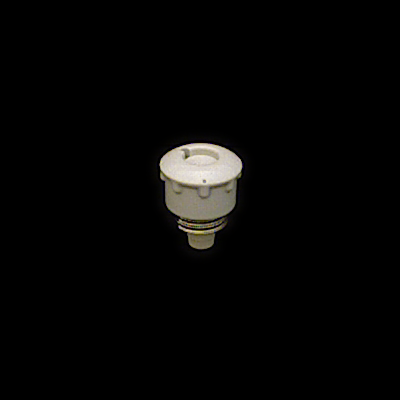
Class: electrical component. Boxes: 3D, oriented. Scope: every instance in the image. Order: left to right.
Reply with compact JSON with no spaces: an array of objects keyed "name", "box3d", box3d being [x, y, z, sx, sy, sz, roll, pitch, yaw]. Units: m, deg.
[{"name":"electrical component","box3d":[0.000,0.000,0.639,0.048,0.063,0.047,1,32,0]}]
